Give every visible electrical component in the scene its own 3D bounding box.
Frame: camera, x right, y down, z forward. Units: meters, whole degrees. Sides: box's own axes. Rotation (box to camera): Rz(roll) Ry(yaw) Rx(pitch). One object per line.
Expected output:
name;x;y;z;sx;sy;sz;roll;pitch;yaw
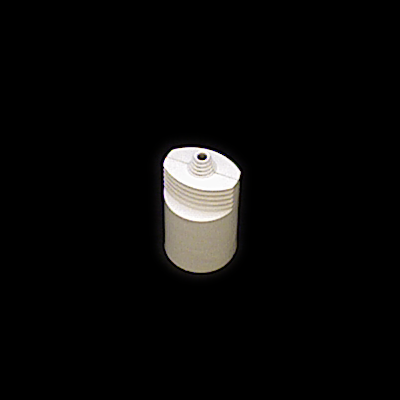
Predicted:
electrical component;0.000;0.000;0.619;0.043;0.043;0.081;0;-38;0
